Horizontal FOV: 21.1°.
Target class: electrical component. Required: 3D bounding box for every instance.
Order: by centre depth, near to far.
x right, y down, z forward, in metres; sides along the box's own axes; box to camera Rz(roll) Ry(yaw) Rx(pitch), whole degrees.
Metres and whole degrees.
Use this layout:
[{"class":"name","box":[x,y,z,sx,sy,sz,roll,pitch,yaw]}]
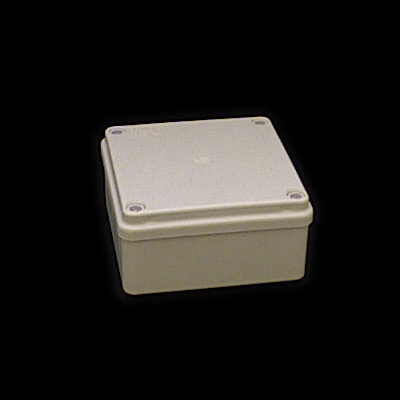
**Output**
[{"class":"electrical component","box":[0.000,0.000,0.634,0.109,0.057,0.107,-5,33,-9]}]
